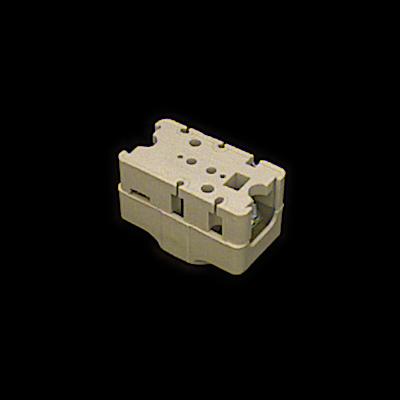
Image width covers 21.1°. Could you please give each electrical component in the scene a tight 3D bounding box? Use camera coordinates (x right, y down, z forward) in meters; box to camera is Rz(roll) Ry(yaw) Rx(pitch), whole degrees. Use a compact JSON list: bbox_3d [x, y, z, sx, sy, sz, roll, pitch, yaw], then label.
[{"bbox_3d":[0.000,0.000,0.640,0.089,0.056,0.050,26,48,24],"label":"electrical component"}]
